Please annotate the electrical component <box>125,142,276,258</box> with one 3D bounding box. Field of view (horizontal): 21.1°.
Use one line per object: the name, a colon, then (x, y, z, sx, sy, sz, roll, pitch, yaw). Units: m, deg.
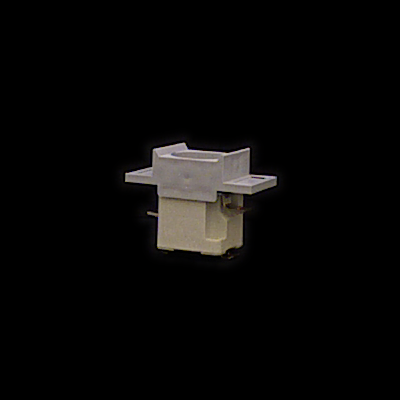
electrical component: (0.000, 0.000, 0.644, 0.080, 0.064, 0.042, 6, 13, 23)
